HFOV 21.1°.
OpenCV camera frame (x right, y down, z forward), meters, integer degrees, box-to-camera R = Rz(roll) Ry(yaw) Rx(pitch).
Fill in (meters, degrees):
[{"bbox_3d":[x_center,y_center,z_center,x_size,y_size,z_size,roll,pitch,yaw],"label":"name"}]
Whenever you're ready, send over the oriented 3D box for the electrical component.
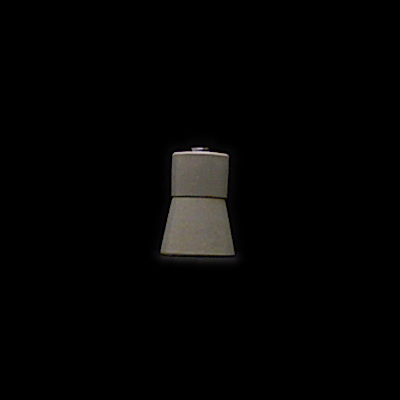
[{"bbox_3d":[0.000,0.000,0.650,0.044,0.065,0.044,2,0,0],"label":"electrical component"}]
